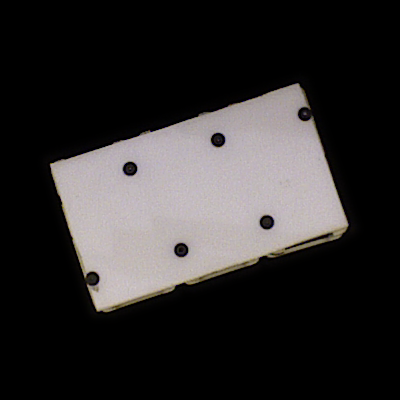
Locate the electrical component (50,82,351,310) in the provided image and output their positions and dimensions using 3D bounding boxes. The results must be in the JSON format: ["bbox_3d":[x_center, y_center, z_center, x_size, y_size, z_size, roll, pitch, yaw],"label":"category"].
[{"bbox_3d":[0.000,0.000,0.631,0.150,0.089,0.061,-18,-6,-2],"label":"electrical component"}]
